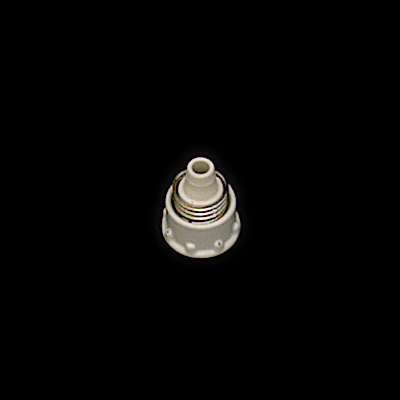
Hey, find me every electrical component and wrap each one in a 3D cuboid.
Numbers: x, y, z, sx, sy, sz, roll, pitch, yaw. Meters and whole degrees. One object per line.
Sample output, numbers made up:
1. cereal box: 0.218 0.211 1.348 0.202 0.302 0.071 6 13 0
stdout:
1. electrical component: 0.000 0.000 0.636 0.048 0.048 0.062 0 -38 -1
